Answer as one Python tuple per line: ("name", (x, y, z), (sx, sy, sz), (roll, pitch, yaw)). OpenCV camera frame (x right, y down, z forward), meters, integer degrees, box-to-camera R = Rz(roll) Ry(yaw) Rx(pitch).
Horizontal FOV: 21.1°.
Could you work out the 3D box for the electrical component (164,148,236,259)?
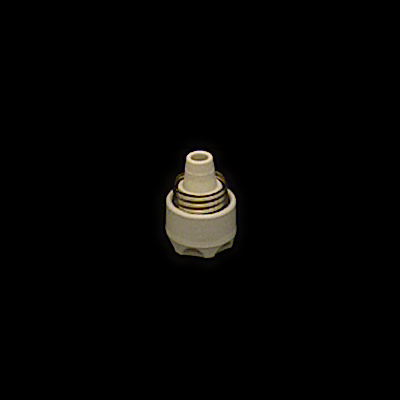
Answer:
("electrical component", (0.000, 0.000, 0.641), (0.043, 0.063, 0.043), (0, 32, 1))
